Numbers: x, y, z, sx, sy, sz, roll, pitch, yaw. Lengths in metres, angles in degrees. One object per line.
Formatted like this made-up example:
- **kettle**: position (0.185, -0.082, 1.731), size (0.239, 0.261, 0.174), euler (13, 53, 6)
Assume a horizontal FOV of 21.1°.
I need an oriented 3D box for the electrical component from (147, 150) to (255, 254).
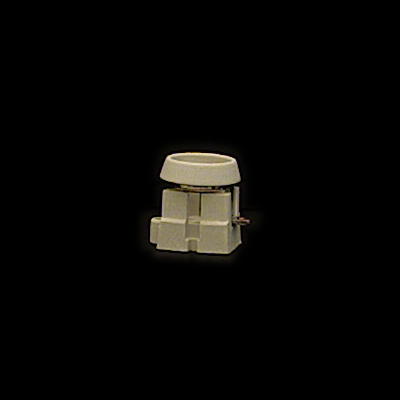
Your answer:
- **electrical component**: position (0.000, 0.000, 0.652), size (0.066, 0.056, 0.048), euler (4, 14, 12)
